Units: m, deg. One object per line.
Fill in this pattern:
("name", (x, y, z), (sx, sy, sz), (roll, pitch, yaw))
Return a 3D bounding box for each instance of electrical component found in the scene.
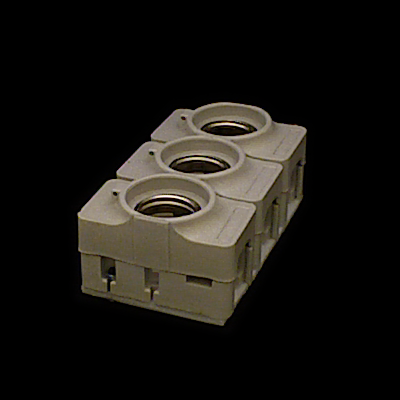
("electrical component", (0.000, 0.000, 0.640), (0.089, 0.063, 0.147), (11, 32, 17))
